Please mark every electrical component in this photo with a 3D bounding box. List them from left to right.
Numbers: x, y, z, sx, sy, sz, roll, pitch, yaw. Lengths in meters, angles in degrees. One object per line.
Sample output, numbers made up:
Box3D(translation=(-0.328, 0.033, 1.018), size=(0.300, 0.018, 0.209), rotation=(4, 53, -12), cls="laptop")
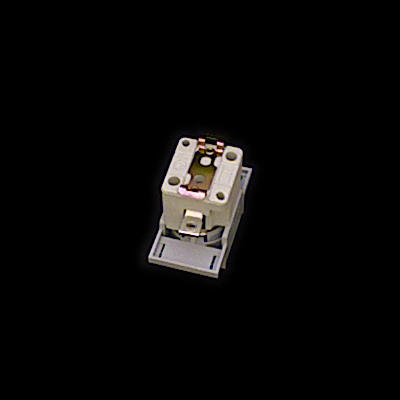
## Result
Box3D(translation=(0.000, 0.000, 0.628), size=(0.042, 0.080, 0.064), rotation=(12, -36, 9), cls="electrical component")
